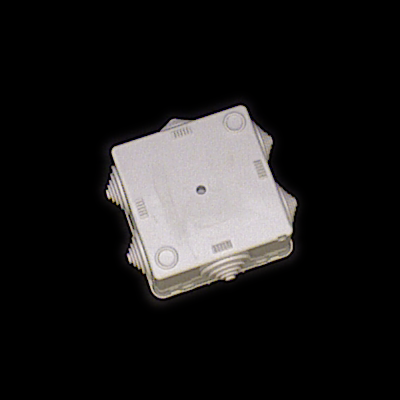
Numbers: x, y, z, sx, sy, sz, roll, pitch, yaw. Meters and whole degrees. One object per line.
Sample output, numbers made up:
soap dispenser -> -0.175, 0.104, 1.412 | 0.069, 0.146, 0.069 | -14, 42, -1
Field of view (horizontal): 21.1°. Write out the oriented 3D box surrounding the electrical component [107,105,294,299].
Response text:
electrical component -> 0.000, 0.000, 0.631 | 0.100, 0.100, 0.048 | -18, -16, -5
